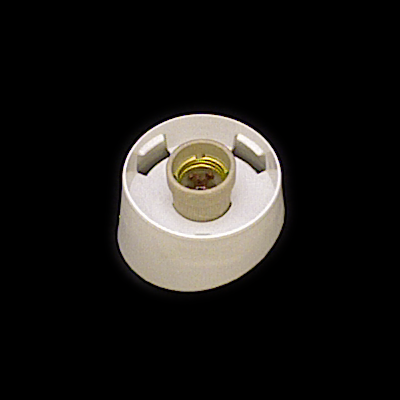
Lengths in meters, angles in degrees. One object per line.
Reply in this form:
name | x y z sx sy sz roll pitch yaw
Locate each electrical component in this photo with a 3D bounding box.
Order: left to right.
electrical component | 0.000 0.000 0.627 0.099 0.098 0.064 0 -37 0
